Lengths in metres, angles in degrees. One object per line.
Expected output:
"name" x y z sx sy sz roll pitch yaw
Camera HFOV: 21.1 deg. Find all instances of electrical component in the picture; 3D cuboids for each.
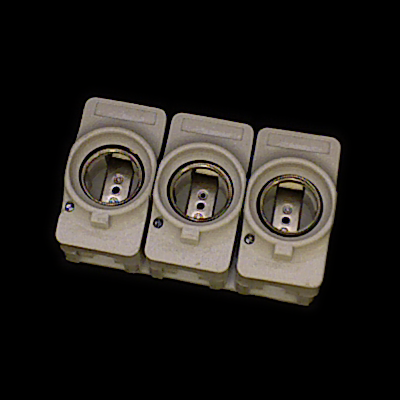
"electrical component" 0.000 0.000 0.631 0.150 0.089 0.062 10 -16 4
